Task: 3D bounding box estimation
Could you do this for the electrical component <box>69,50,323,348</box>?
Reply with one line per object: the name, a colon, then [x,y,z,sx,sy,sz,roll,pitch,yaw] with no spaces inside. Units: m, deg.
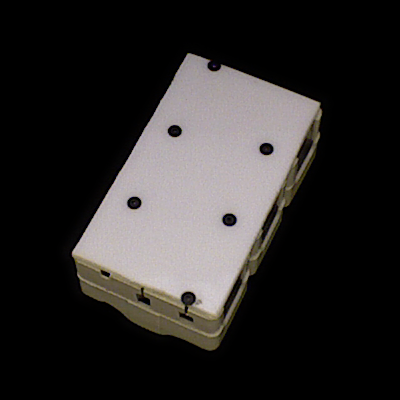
electrical component: [0.000,0.000,0.633,0.089,0.149,0.062,23,-25,11]
